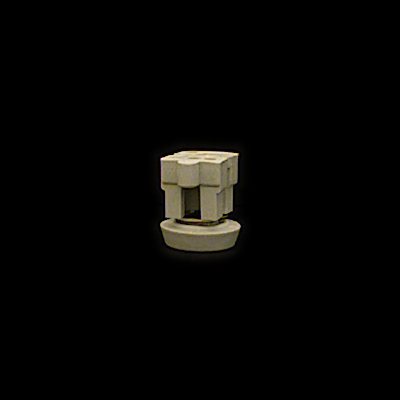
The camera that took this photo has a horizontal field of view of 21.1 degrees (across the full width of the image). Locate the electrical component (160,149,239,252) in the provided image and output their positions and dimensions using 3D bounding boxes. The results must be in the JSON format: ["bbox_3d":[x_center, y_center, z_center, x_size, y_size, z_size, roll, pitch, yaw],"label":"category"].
[{"bbox_3d":[0.000,0.000,0.650,0.048,0.056,0.066,3,11,16],"label":"electrical component"}]
